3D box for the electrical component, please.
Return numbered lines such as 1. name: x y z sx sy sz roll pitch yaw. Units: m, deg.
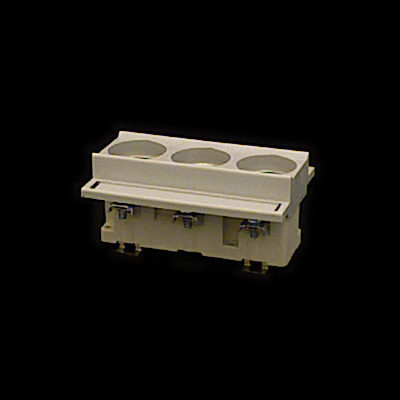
1. electrical component: 0.000 0.000 0.650 0.121 0.064 0.078 8 24 17
